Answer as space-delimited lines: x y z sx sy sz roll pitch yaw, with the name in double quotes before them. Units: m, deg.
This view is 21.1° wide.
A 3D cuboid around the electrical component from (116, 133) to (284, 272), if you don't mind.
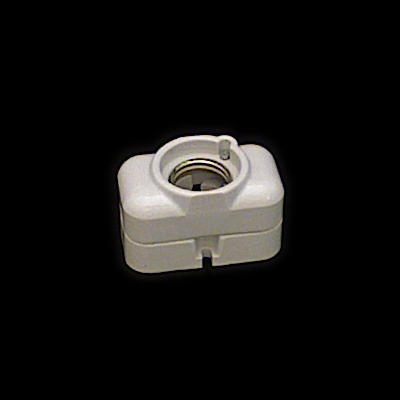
"electrical component" 0.000 0.000 0.639 0.095 0.060 0.053 -6 43 -8
